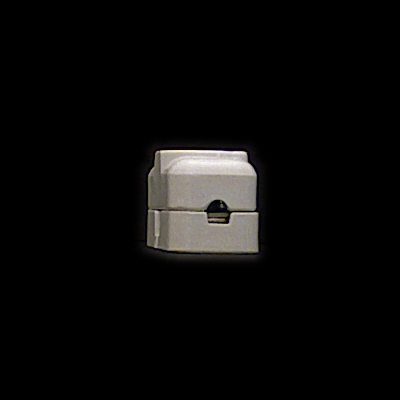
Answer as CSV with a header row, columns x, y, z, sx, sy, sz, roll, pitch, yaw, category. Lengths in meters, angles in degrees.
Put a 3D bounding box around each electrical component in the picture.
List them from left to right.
x,y,z,sx,sy,sz,roll,pitch,yaw,category
0.000,0.000,0.657,0.054,0.059,0.094,1,1,-14,electrical component
